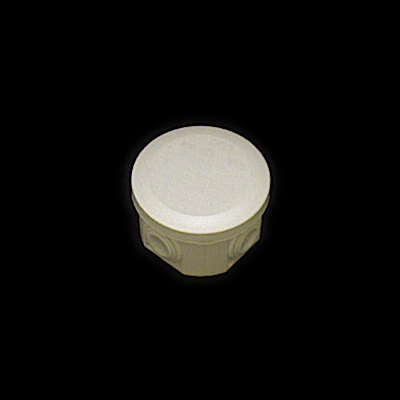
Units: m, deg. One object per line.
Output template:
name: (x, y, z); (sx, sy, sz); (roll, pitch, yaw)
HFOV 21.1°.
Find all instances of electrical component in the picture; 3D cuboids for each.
electrical component: (0.000, 0.000, 0.630); (0.080, 0.080, 0.051); (0, -38, 0)
